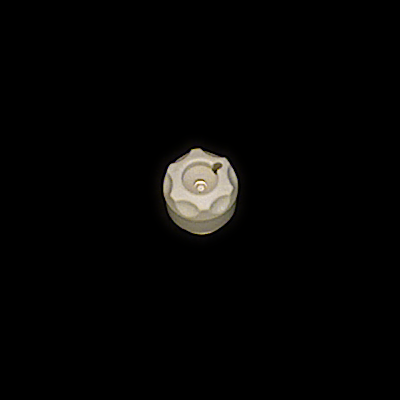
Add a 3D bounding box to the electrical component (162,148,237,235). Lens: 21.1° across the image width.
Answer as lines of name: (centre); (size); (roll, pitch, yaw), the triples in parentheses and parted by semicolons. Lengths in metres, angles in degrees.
electrical component: (0.000, 0.000, 0.634); (0.043, 0.043, 0.062); (0, -26, 1)
